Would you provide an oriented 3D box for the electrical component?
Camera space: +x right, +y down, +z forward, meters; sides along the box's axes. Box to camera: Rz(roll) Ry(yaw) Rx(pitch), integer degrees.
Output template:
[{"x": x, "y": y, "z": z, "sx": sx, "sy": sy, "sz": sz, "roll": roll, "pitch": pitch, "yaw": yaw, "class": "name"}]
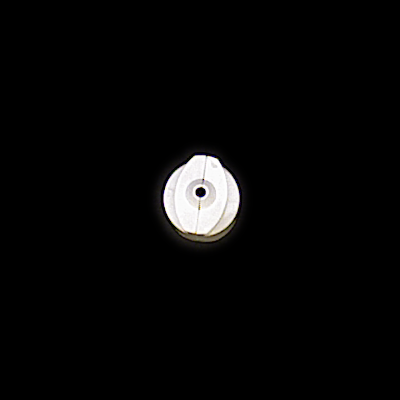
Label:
[{"x": 0.000, "y": 0.000, "z": 0.617, "sx": 0.043, "sy": 0.043, "sz": 0.080, "roll": 0, "pitch": -6, "yaw": 1, "class": "electrical component"}]
